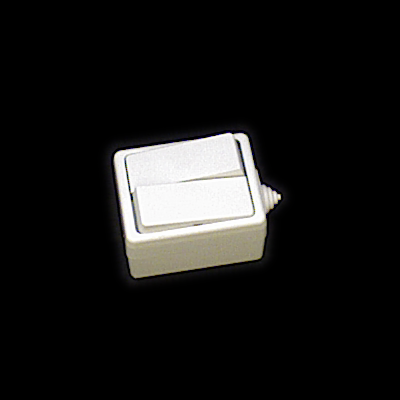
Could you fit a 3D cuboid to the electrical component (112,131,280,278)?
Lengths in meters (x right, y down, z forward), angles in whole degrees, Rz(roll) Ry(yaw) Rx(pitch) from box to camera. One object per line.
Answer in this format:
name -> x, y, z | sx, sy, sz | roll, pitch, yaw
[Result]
electrical component -> 0.000, 0.000, 0.627 | 0.096, 0.062, 0.061 | -8, -27, -4
